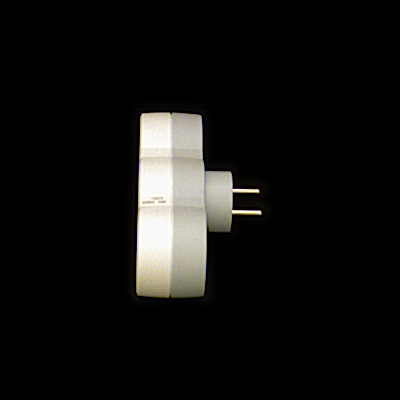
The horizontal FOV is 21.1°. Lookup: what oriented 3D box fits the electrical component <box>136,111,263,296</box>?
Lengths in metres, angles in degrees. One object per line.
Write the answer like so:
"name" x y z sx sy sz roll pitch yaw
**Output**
"electrical component" 0.000 0.000 0.640 0.074 0.052 0.137 1 43 -3
